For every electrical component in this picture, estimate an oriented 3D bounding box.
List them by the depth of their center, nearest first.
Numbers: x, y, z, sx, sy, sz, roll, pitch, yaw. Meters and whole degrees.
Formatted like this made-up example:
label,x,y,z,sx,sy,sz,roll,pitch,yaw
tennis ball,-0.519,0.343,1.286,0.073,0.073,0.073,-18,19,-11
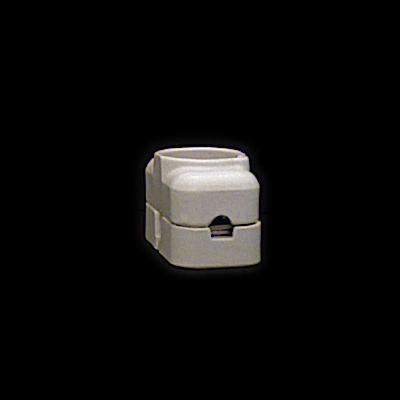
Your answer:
label,x,y,z,sx,sy,sz,roll,pitch,yaw
electrical component,0.000,0.000,0.651,0.054,0.060,0.094,-3,12,-15
